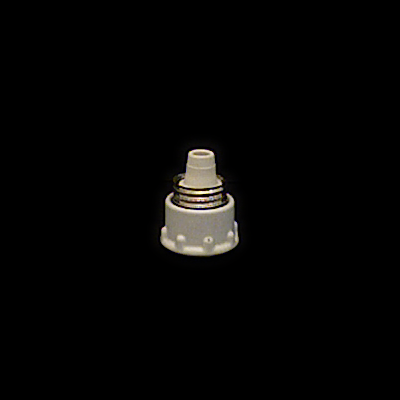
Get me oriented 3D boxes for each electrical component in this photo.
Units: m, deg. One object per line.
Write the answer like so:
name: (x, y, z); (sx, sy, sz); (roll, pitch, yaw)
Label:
electrical component: (0.000, 0.000, 0.647); (0.048, 0.063, 0.047); (2, 21, 0)
